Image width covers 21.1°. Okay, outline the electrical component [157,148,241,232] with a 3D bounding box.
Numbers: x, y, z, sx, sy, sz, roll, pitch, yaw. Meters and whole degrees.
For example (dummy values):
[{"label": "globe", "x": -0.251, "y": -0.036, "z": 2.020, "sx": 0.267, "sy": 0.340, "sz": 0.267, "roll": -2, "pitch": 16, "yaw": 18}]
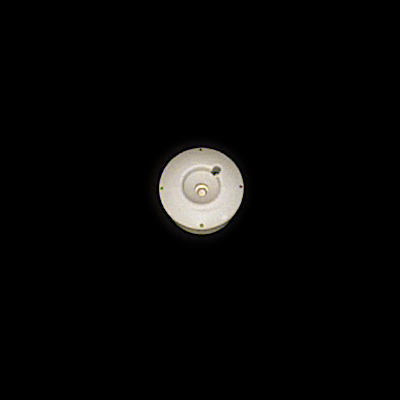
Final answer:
[{"label": "electrical component", "x": 0.000, "y": 0.000, "z": 0.634, "sx": 0.048, "sy": 0.048, "sz": 0.061, "roll": 0, "pitch": -16, "yaw": 1}]
